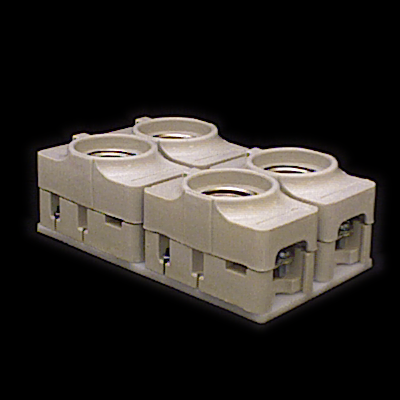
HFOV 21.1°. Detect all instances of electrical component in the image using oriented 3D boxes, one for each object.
[{"bbox_3d":[0.000,0.000,0.638,0.184,0.061,0.105,18,27,39],"label":"electrical component"}]
